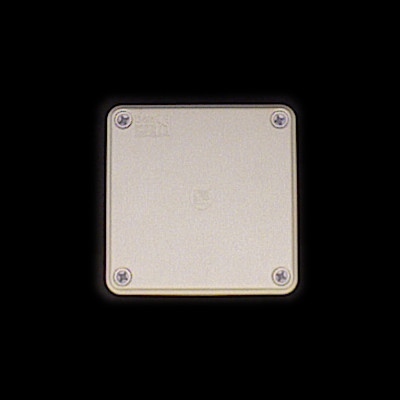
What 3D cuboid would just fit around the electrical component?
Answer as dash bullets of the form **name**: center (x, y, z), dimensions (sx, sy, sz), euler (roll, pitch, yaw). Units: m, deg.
- **electrical component**: center (0.000, 0.000, 0.630), dimensions (0.109, 0.109, 0.056), euler (0, -6, 0)
